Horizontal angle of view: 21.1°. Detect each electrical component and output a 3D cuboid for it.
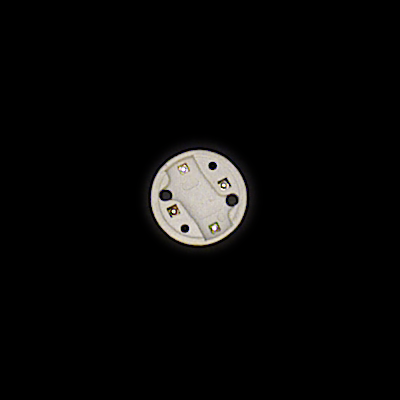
[{"bbox_3d":[0.000,0.000,0.636,0.055,0.055,0.047,0,-7,0],"label":"electrical component"}]
